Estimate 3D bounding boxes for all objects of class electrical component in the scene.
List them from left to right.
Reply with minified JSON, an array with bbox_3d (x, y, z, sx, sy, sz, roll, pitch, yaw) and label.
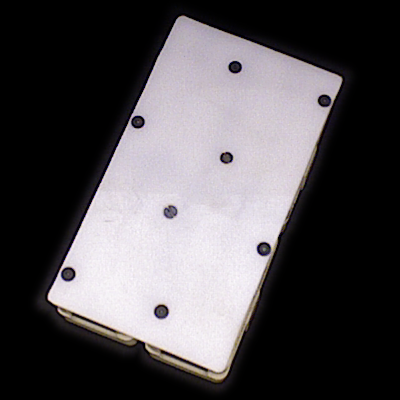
[{"bbox_3d":[0.000,0.000,0.625,0.105,0.187,0.060,22,-16,6],"label":"electrical component"}]
